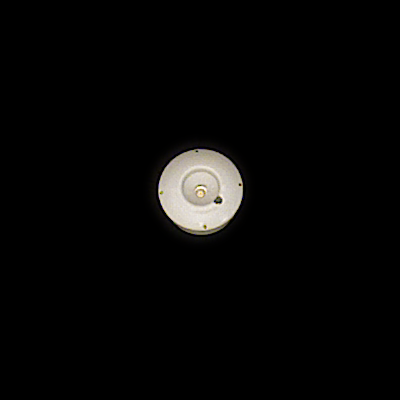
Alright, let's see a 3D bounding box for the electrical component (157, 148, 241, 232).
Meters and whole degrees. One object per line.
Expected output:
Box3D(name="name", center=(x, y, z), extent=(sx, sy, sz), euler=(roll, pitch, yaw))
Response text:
Box3D(name="electrical component", center=(0.000, 0.000, 0.634), extent=(0.048, 0.048, 0.062), euler=(0, -16, 1))
